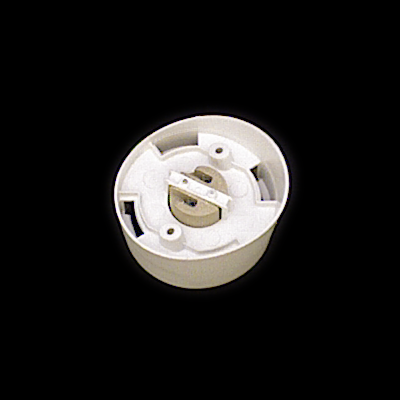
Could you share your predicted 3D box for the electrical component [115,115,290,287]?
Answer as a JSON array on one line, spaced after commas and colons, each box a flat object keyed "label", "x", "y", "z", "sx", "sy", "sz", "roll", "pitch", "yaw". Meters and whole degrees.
[{"label": "electrical component", "x": 0.000, "y": 0.000, "z": 0.625, "sx": 0.099, "sy": 0.099, "sz": 0.064, "roll": 0, "pitch": -28, "yaw": -1}]
